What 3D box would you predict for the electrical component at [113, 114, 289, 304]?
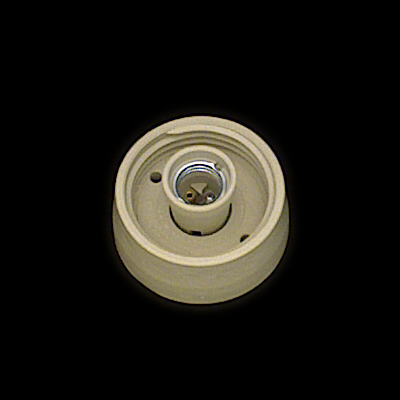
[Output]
[{"bbox_3d":[0.000,0.000,0.634,0.108,0.108,0.060,0,-27,0],"label":"electrical component"}]
